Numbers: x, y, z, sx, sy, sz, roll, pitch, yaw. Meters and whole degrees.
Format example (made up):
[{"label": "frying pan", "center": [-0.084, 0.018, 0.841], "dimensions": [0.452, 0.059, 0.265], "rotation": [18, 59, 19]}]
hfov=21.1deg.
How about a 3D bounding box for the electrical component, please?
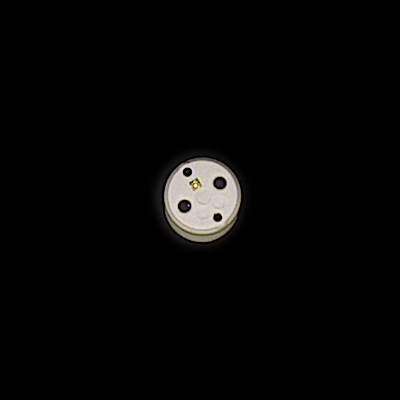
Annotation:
[{"label": "electrical component", "center": [0.000, 0.000, 0.630], "dimensions": [0.045, 0.045, 0.055], "rotation": [0, -6, 0]}]
